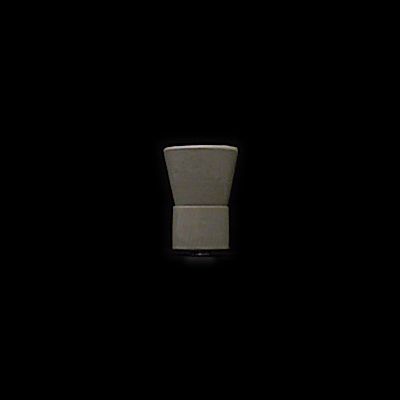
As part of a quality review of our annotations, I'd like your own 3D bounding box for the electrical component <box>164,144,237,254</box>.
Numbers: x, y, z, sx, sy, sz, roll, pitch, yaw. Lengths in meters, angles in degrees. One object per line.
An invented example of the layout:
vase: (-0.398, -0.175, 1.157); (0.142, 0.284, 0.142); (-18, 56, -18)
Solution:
electrical component: (0.000, 0.000, 0.650); (0.044, 0.065, 0.044); (0, 1, 0)
